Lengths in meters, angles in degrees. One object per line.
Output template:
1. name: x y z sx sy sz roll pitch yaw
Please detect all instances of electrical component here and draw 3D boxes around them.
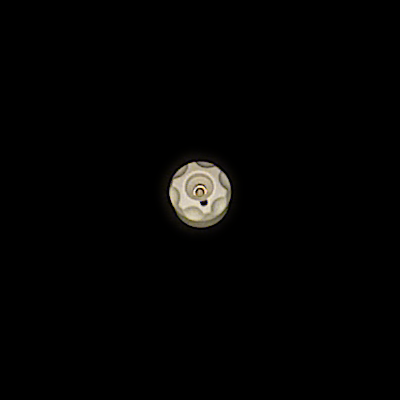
1. electrical component: 0.000 0.000 0.633 0.035 0.035 0.061 0 -15 1
